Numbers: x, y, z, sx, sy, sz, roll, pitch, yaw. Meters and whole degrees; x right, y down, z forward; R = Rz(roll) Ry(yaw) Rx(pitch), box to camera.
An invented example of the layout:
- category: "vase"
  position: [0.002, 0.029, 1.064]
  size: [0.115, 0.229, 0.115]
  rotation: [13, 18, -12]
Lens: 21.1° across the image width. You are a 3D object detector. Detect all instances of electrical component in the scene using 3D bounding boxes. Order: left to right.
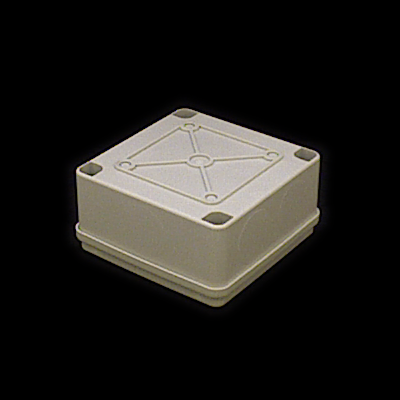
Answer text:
- category: "electrical component"
  position: [0.000, 0.000, 0.633]
  size: [0.108, 0.057, 0.108]
  rotation: [21, 37, 30]
